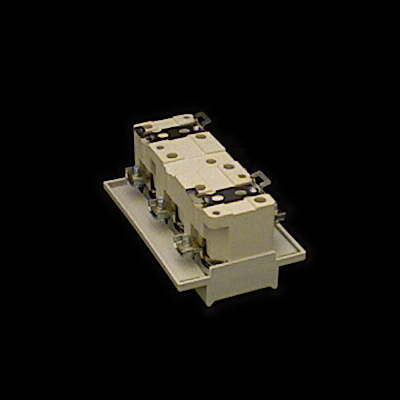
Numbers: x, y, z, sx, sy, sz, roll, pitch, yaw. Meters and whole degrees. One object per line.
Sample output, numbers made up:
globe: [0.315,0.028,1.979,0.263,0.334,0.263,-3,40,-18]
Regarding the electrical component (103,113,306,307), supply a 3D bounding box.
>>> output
electrical component: [0.000,0.000,0.639,0.079,0.064,0.119,-14,35,-21]
